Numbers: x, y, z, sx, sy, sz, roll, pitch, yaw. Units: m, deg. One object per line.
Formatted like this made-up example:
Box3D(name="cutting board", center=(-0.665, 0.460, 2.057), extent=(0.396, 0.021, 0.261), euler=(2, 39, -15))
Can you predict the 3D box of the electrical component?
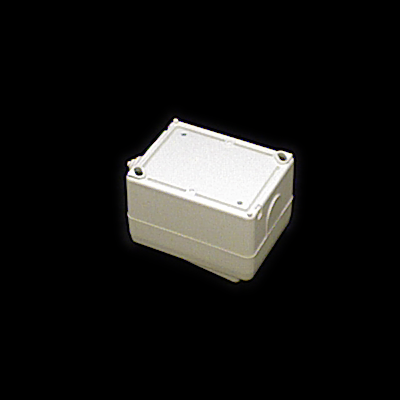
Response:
Box3D(name="electrical component", center=(0.000, 0.000, 0.632), extent=(0.095, 0.061, 0.061), euler=(19, 45, 19))
